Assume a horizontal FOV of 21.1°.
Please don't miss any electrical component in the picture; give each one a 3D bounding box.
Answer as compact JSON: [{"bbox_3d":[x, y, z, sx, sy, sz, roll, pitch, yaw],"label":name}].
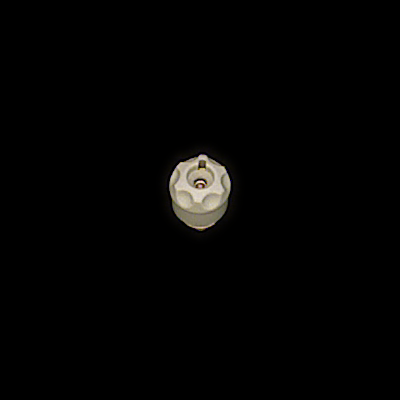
[{"bbox_3d":[0.000,0.000,0.635,0.035,0.035,0.061,0,-27,0],"label":"electrical component"}]
